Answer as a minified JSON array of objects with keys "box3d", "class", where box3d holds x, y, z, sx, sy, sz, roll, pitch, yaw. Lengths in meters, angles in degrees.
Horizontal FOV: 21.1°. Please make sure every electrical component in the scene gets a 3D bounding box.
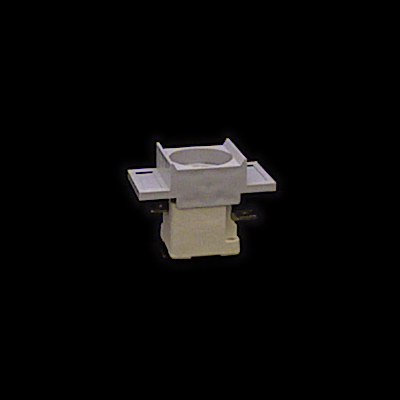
[{"box3d":[0.000,0.000,0.639,0.081,0.064,0.041,-4,21,-12],"class":"electrical component"}]
